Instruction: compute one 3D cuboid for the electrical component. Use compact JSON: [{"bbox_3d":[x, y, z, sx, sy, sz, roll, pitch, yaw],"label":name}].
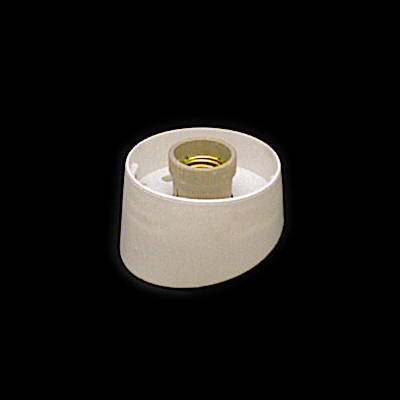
[{"bbox_3d":[0.000,0.000,0.634,0.099,0.065,0.097,1,32,0],"label":"electrical component"}]
